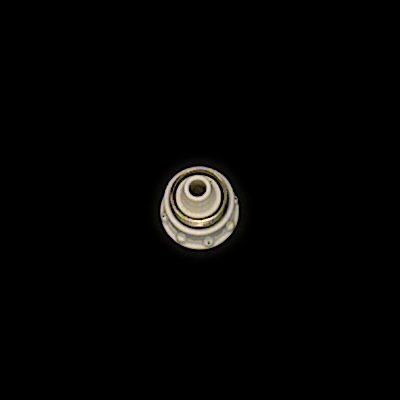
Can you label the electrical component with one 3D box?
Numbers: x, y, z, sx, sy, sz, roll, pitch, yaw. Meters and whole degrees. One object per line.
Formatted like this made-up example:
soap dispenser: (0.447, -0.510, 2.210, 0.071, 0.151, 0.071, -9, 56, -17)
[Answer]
electrical component: (0.000, 0.000, 0.633, 0.048, 0.048, 0.061, 0, -15, 1)
